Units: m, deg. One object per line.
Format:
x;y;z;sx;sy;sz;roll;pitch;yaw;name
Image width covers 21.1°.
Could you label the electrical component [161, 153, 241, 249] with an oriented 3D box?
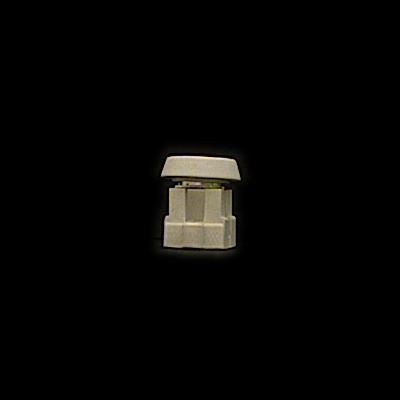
0.000;0.000;0.658;0.048;0.055;0.066;4;2;10;electrical component
